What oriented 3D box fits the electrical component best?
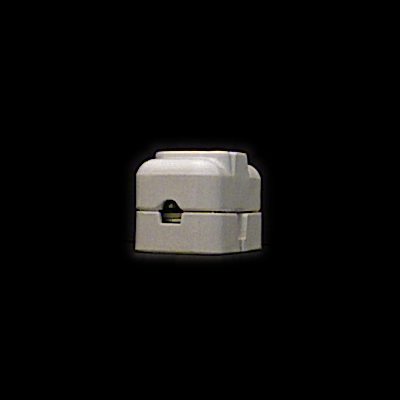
[{"bbox_3d":[0.000,0.000,0.656,0.053,0.059,0.095,1,1,21],"label":"electrical component"}]
